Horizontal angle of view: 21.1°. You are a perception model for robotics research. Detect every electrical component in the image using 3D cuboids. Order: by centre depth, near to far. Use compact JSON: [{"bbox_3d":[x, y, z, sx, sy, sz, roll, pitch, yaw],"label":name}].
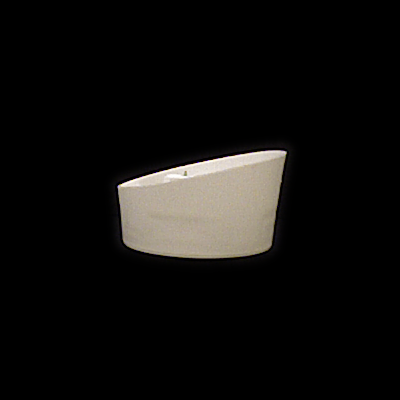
[{"bbox_3d":[0.000,0.000,0.644,0.099,0.064,0.098,2,10,0],"label":"electrical component"}]
